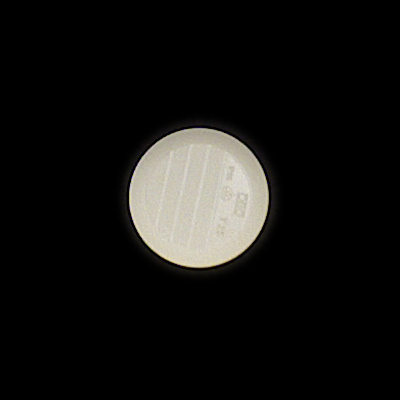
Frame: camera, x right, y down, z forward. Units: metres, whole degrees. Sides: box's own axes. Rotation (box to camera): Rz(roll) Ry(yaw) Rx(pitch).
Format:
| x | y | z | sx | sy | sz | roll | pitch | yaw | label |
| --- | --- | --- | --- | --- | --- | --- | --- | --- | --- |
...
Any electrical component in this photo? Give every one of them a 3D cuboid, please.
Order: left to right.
| x | y | z | sx | sy | sz | roll | pitch | yaw | label |
| --- | --- | --- | --- | --- | --- | --- | --- | --- | --- |
| 0.000 | 0.000 | 0.631 | 0.080 | 0.080 | 0.050 | 0 | -6 | 0 | electrical component |
